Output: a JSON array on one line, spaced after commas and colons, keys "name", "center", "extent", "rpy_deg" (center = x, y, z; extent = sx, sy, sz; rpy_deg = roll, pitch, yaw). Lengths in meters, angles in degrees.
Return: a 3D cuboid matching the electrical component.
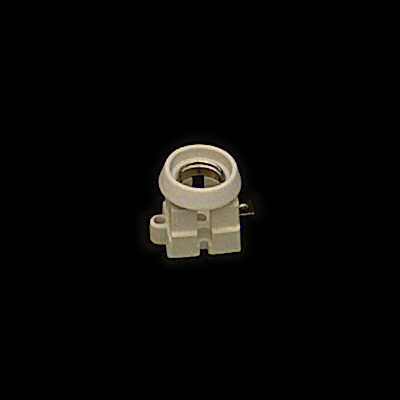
[{"name": "electrical component", "center": [0.000, 0.000, 0.641], "extent": [0.067, 0.056, 0.048], "rpy_deg": [-6, 45, -7]}]
